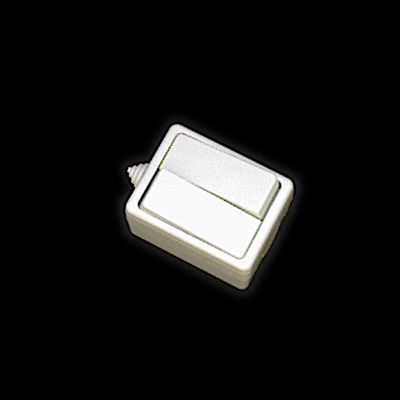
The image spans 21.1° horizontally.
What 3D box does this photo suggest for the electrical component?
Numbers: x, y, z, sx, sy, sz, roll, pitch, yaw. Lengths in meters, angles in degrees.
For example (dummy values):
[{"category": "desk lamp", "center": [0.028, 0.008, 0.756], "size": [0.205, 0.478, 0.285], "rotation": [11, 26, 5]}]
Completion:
[{"category": "electrical component", "center": [0.000, 0.000, 0.626], "size": [0.096, 0.062, 0.060], "rotation": [27, -15, 8]}]
